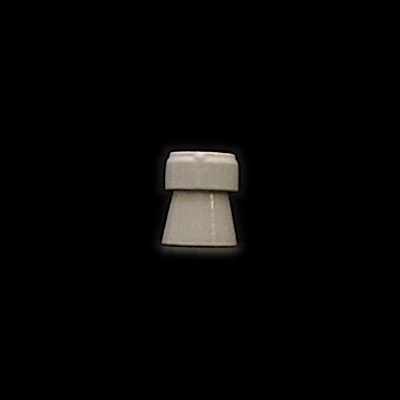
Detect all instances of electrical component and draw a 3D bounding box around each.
[{"bbox_3d":[0.000,0.000,0.650,0.045,0.055,0.044,2,1,0],"label":"electrical component"}]
